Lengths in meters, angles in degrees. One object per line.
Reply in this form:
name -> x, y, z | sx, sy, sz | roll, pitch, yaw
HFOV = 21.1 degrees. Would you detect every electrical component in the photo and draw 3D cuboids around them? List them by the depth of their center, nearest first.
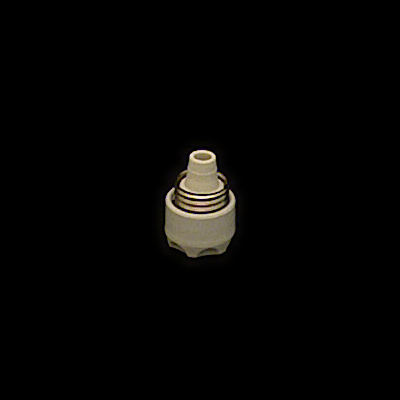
electrical component -> 0.000, 0.000, 0.641 | 0.043, 0.063, 0.043 | 2, 32, -1
